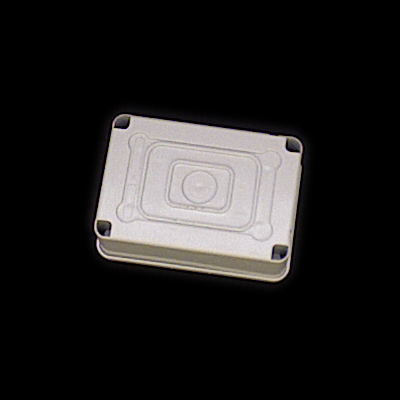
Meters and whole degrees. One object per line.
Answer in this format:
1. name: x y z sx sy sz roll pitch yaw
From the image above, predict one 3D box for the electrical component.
1. electrical component: 0.000 0.000 0.628 0.113 0.078 0.057 8 -17 3
